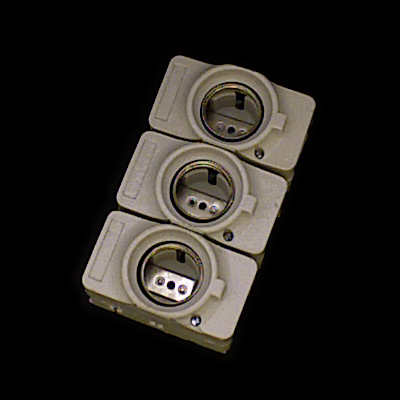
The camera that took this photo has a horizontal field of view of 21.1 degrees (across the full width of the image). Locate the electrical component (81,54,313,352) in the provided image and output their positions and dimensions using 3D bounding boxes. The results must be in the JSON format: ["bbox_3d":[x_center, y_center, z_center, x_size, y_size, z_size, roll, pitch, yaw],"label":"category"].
[{"bbox_3d":[0.000,0.000,0.631,0.089,0.150,0.062,19,-15,5],"label":"electrical component"}]
